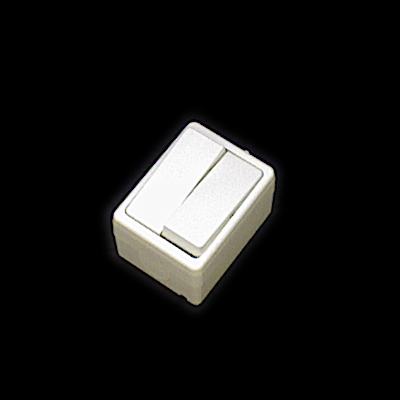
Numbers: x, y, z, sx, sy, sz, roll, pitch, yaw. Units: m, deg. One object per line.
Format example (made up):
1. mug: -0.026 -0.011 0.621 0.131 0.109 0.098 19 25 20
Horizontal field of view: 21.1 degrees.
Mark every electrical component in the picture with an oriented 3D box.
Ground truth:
1. electrical component: 0.000 0.000 0.627 0.061 0.096 0.061 32 -23 16
